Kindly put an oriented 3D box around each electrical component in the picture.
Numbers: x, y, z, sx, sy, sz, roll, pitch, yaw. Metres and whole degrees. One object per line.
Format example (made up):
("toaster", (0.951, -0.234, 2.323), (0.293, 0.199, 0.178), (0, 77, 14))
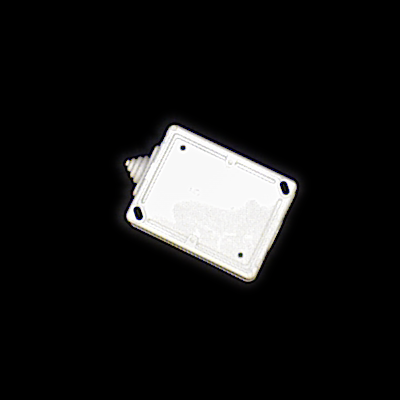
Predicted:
("electrical component", (0.000, 0.000, 0.627), (0.096, 0.062, 0.061), (26, -5, 3))
